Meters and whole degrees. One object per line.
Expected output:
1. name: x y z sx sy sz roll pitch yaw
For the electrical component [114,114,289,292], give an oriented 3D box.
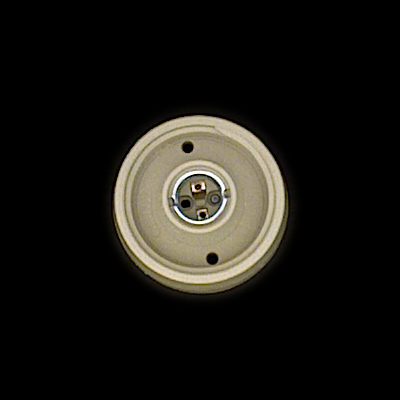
1. electrical component: 0.000 0.000 0.635 0.108 0.108 0.060 0 -6 0
